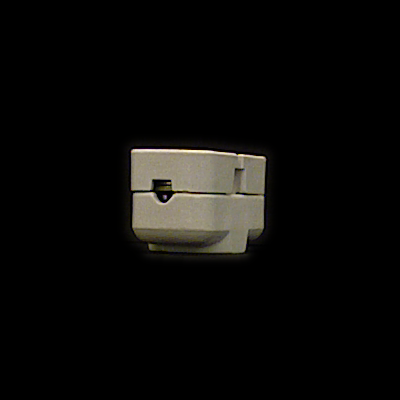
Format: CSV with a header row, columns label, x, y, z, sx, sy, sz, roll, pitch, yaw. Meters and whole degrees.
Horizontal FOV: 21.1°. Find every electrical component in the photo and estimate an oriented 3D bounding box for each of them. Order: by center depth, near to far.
label,x,y,z,sx,sy,sz,roll,pitch,yaw
electrical component,0.000,0.000,0.656,0.053,0.059,0.096,2,1,27
